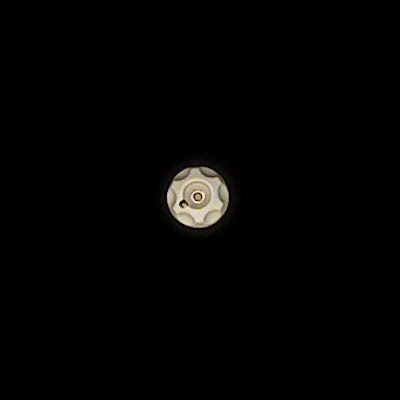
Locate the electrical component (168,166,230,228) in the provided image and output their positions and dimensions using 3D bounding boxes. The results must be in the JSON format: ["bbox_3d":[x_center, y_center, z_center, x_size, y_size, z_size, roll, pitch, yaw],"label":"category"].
[{"bbox_3d":[0.000,0.000,0.634,0.035,0.035,0.061,0,-5,1],"label":"electrical component"}]
